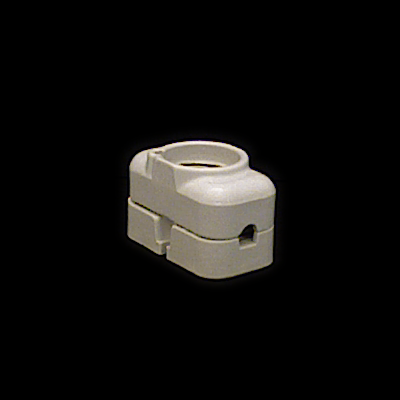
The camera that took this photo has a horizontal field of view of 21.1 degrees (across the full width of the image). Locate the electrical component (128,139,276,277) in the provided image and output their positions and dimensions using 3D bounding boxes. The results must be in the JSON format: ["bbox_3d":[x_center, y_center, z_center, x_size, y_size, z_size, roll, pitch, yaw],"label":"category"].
[{"bbox_3d":[0.000,0.000,0.645,0.054,0.060,0.093,-15,26,-35],"label":"electrical component"}]
